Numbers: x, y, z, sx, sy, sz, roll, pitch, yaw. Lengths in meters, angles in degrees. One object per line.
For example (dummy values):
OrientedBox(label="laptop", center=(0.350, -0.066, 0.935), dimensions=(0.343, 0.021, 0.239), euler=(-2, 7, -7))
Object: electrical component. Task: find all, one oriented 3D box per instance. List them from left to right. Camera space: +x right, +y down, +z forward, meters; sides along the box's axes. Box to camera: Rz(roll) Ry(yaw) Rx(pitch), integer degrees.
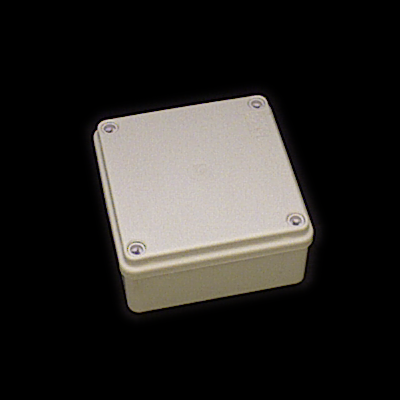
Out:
OrientedBox(label="electrical component", center=(0.000, 0.000, 0.629), dimensions=(0.109, 0.108, 0.056), euler=(-10, -37, -8))
